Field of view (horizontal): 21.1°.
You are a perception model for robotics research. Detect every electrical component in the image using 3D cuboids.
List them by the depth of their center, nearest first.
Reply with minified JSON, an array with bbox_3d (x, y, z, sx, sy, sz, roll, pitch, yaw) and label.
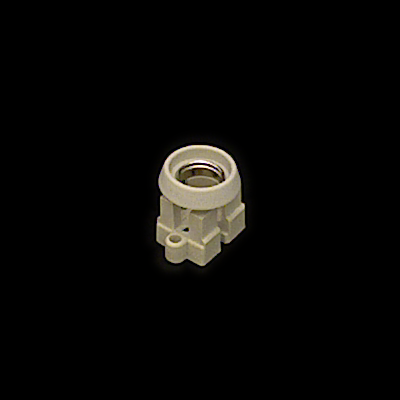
[{"bbox_3d":[0.000,0.000,0.641,0.048,0.056,0.066,28,49,24],"label":"electrical component"}]
